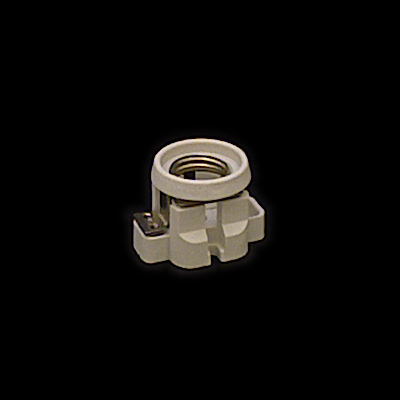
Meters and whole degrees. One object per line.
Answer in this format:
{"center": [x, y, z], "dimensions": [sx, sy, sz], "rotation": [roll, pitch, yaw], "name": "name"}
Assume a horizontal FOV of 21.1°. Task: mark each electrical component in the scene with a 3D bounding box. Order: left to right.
{"center": [0.000, 0.000, 0.633], "dimensions": [0.079, 0.057, 0.057], "rotation": [-11, 34, -20], "name": "electrical component"}
